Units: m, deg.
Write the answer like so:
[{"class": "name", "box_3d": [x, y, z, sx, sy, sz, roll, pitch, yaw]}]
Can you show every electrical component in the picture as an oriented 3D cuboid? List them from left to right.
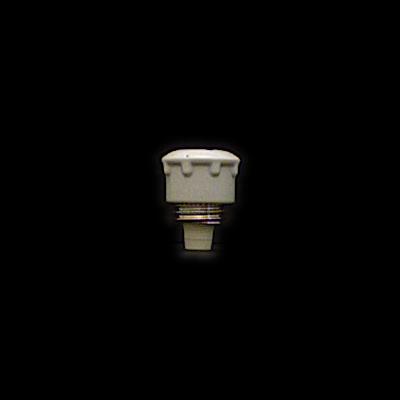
[{"class": "electrical component", "box_3d": [0.000, 0.000, 0.658, 0.048, 0.062, 0.048, 1, 2, 0]}]
